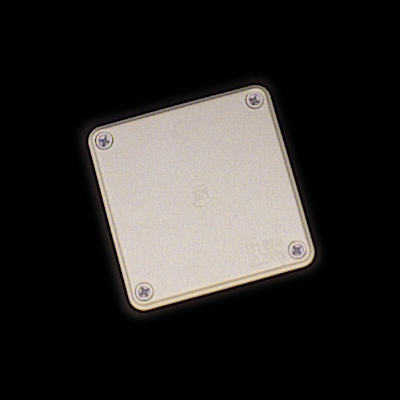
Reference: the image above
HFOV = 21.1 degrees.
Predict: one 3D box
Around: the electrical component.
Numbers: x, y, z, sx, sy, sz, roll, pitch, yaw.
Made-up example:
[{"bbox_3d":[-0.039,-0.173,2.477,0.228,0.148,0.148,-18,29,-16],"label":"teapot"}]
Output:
[{"bbox_3d":[0.000,0.000,0.631,0.109,0.109,0.056,-15,-7,-1],"label":"electrical component"}]
